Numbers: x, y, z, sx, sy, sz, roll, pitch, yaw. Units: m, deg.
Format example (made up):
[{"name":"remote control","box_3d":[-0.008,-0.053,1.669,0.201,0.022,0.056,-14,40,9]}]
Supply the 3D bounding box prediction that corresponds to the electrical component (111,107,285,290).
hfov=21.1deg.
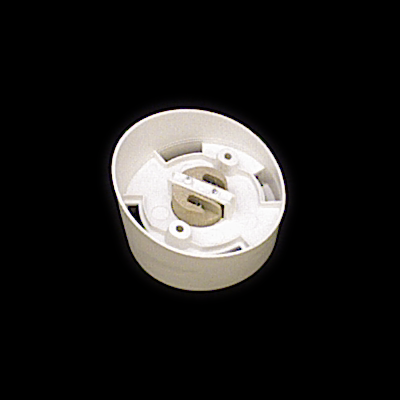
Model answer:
[{"name":"electrical component","box_3d":[0.000,0.000,0.625,0.099,0.098,0.064,0,-37,1]}]
